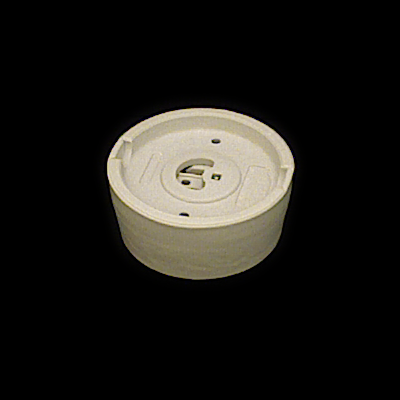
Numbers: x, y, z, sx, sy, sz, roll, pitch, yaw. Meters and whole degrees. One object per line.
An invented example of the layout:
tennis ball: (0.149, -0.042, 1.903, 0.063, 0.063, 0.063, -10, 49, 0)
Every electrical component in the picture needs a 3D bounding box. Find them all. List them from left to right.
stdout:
electrical component: (0.000, 0.000, 0.639, 0.108, 0.061, 0.106, 0, 42, 0)
